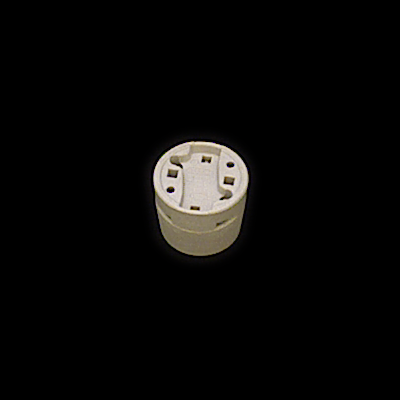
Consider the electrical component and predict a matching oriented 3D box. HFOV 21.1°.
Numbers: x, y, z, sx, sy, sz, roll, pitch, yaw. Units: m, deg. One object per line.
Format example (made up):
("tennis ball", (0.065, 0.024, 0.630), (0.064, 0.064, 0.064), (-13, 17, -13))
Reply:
("electrical component", (0.000, 0.000, 0.635), (0.055, 0.055, 0.047), (0, -38, -1))
